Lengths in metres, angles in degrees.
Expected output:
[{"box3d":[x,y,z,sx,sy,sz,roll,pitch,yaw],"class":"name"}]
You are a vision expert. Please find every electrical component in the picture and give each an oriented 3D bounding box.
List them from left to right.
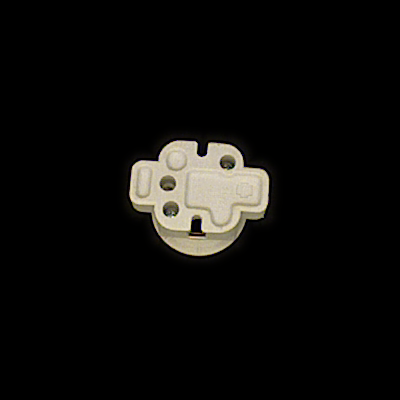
[{"box3d":[0.000,0.000,0.636,0.078,0.058,0.056,3,-17,-1],"class":"electrical component"}]
